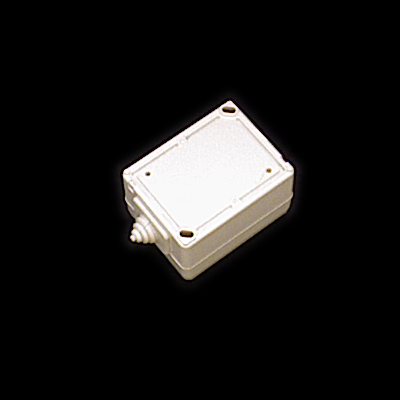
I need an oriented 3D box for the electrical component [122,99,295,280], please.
[{"bbox_3d":[0.000,0.000,0.628,0.096,0.061,0.061,-35,-22,-16],"label":"electrical component"}]
